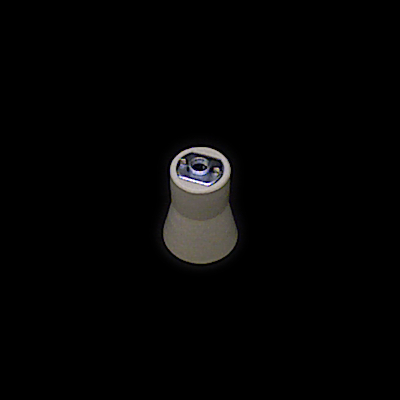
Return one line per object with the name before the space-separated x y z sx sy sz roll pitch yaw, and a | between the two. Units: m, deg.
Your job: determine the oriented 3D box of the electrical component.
electrical component | 0.000 0.000 0.628 0.044 0.044 0.065 0 -39 -1
